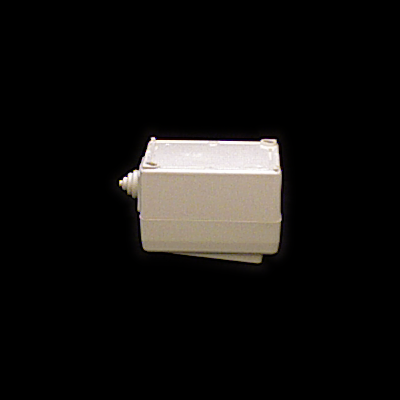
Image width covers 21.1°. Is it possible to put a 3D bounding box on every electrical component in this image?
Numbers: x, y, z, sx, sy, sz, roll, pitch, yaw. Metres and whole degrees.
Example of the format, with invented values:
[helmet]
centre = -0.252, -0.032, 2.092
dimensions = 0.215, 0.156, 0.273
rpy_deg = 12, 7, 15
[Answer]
[electrical component]
centre = 0.000, 0.000, 0.642
dimensions = 0.096, 0.061, 0.061
rpy_deg = 1, 21, 2
